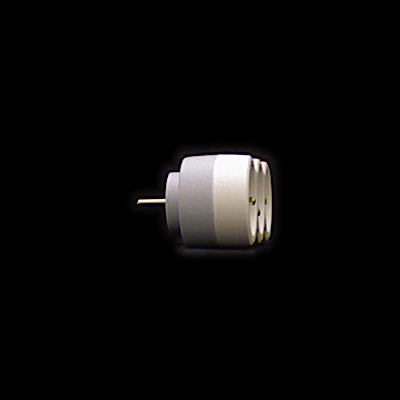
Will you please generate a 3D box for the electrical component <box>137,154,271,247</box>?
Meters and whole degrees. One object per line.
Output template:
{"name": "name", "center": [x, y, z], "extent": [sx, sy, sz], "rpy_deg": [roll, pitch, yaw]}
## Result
{"name": "electrical component", "center": [0.000, 0.000, 0.647], "extent": [0.074, 0.052, 0.138], "rpy_deg": [-1, 0, 9]}
